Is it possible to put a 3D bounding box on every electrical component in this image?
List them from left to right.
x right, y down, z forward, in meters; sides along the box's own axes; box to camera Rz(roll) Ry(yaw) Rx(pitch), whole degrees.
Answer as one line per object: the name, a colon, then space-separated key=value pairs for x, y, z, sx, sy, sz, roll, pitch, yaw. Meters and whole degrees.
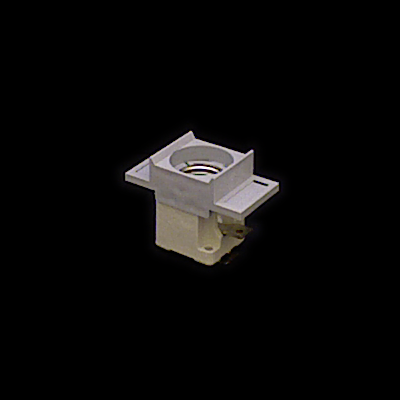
electrical component: x=0.000 y=0.000 z=0.632 sx=0.080 sy=0.064 sz=0.042 roll=20 pitch=35 yaw=29
